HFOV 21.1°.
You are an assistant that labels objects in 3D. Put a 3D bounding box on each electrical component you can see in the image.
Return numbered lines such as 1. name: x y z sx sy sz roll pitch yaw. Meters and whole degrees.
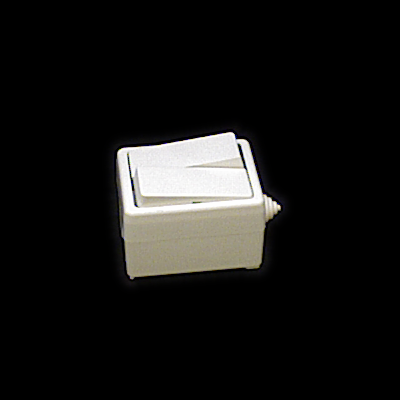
1. electrical component: 0.000 0.000 0.631 0.096 0.061 0.061 -5 42 -6
